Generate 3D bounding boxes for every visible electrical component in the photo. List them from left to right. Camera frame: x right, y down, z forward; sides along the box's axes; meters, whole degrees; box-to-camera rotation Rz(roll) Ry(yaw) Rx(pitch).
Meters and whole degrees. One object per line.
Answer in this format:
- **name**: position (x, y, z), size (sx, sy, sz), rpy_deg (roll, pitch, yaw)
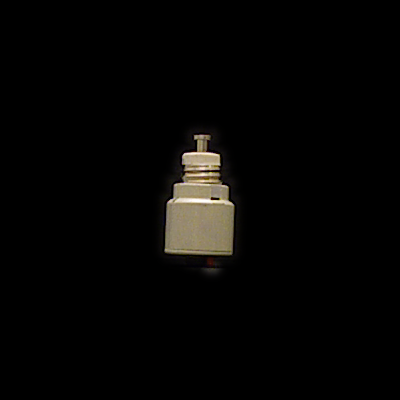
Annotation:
- **electrical component**: position (0.000, 0.000, 0.649), size (0.040, 0.078, 0.040), rpy_deg (2, 0, 0)
